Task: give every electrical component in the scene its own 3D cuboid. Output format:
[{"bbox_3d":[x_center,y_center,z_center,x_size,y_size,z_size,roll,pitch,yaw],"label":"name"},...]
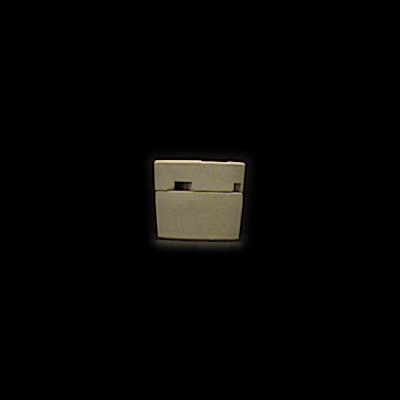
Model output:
[{"bbox_3d":[0.000,0.000,0.649,0.055,0.047,0.055,1,1,0],"label":"electrical component"}]
